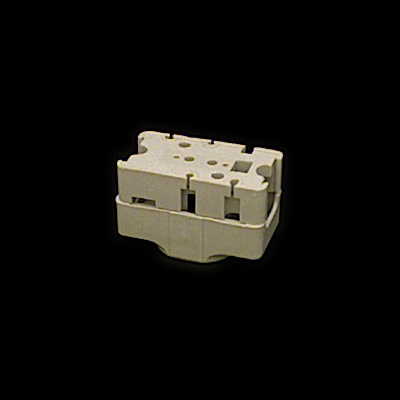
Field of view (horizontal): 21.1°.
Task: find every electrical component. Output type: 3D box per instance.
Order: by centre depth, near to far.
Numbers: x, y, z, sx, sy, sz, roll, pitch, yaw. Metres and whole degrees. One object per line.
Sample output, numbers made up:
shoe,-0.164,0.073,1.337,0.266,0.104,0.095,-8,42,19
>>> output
electrical component,0.000,0.000,0.643,0.089,0.056,0.050,10,33,14
